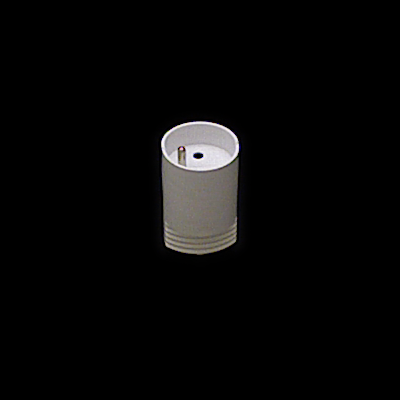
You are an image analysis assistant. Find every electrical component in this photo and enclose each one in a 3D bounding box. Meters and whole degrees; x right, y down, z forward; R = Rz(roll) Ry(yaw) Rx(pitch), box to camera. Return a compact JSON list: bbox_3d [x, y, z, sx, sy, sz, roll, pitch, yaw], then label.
[{"bbox_3d":[0.000,0.000,0.621,0.043,0.082,0.042,0,41,0],"label":"electrical component"}]
